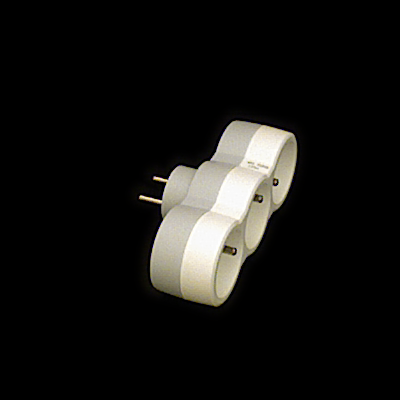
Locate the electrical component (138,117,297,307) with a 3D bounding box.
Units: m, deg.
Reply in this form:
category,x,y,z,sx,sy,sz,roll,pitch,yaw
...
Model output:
category,x,y,z,sx,sy,sz,roll,pitch,yaw
electrical component,0.000,0.000,0.643,0.073,0.053,0.138,16,45,18
